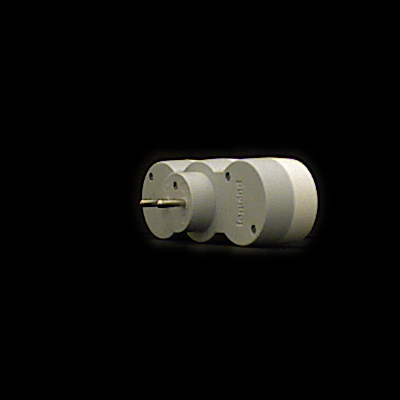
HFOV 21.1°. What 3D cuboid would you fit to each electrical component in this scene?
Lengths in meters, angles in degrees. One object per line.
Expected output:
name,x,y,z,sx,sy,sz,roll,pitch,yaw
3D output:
electrical component,0.000,0.000,0.656,0.074,0.052,0.136,-1,2,-34
